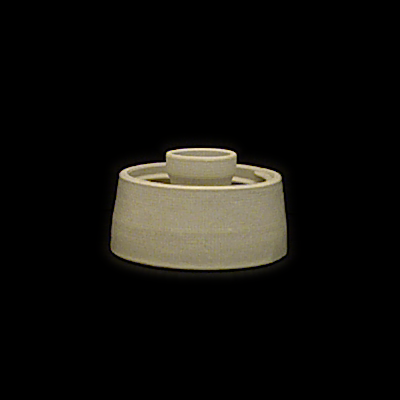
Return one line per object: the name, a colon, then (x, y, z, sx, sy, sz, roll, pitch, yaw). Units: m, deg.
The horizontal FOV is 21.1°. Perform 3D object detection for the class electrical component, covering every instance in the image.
electrical component: (0.000, 0.000, 0.651, 0.108, 0.061, 0.107, 1, 11, 0)
